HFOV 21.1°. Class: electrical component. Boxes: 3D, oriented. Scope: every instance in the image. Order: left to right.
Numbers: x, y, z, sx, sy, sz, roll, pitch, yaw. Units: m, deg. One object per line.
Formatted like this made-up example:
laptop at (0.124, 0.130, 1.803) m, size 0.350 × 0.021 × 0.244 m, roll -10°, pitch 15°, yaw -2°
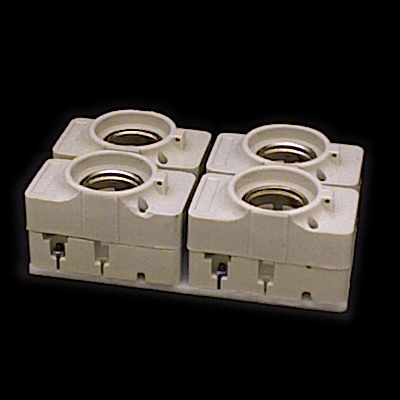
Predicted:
electrical component at (0.000, 0.000, 0.635) m, size 0.186 × 0.061 × 0.104 m, roll 6°, pitch 32°, yaw 8°
